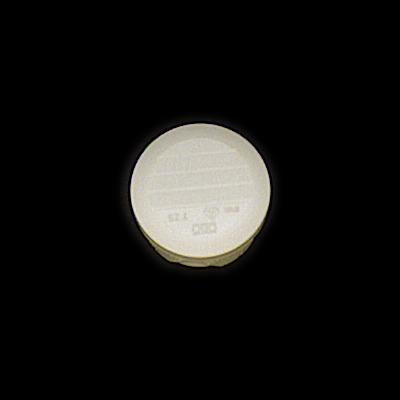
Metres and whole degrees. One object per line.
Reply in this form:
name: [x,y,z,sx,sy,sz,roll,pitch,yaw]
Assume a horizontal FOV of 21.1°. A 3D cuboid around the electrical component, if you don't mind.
electrical component: [0.000,0.000,0.629,0.080,0.080,0.050,0,-17,0]
